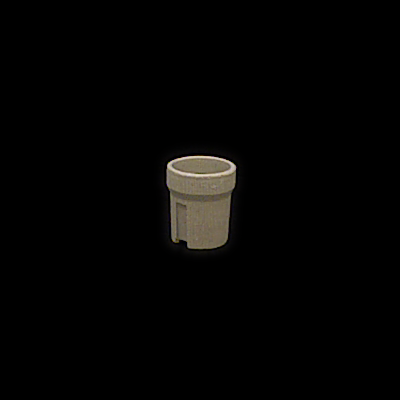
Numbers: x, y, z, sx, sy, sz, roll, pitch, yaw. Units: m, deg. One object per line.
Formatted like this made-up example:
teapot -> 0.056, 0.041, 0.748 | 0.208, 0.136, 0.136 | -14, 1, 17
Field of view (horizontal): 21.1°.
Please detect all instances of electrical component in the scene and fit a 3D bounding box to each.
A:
electrical component -> 0.000, 0.000, 0.641 | 0.040, 0.047, 0.039 | 1, 21, 0
